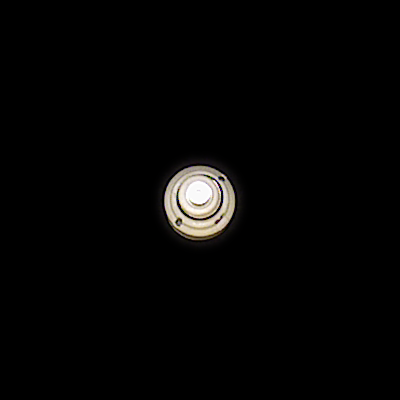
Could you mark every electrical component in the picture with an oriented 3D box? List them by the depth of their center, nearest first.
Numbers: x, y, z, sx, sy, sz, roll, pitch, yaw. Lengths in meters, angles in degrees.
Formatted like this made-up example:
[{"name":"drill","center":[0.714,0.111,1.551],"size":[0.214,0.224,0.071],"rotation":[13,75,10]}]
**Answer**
[{"name":"electrical component","center":[0.000,0.000,0.618],"size":[0.040,0.040,0.078],"rotation":[0,-7,0]}]
